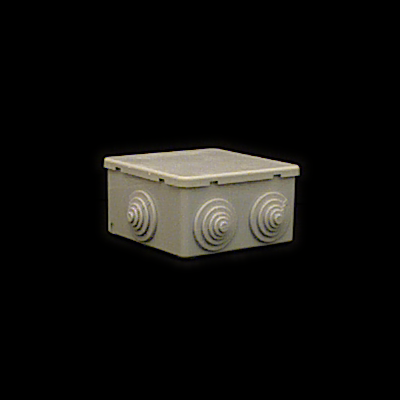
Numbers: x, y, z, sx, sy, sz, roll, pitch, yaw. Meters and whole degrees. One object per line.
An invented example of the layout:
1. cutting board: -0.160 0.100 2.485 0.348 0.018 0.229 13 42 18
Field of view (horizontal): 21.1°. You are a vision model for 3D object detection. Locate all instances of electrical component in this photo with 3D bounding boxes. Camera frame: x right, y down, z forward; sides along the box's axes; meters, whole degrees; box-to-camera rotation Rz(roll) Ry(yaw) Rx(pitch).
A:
1. electrical component: 0.000 0.000 0.654 0.100 0.049 0.098 -7 14 -36
